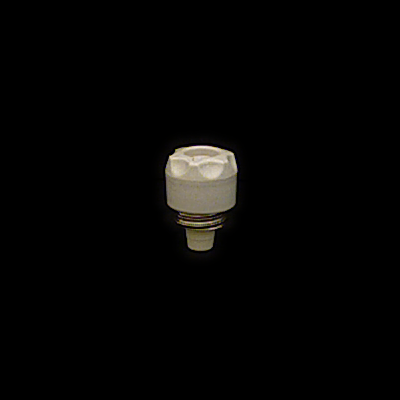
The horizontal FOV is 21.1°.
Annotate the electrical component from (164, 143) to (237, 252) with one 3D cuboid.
[{"bbox_3d":[0.000,0.000,0.647,0.043,0.063,0.043,1,21,0],"label":"electrical component"}]
